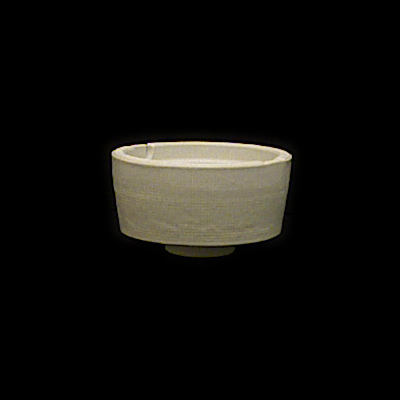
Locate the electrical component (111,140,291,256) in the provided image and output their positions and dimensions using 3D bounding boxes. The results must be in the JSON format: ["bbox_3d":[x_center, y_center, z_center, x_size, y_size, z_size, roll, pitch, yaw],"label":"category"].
[{"bbox_3d":[0.000,0.000,0.651,0.108,0.061,0.107,1,11,0],"label":"electrical component"}]
